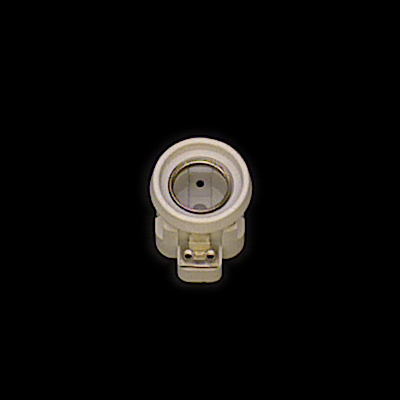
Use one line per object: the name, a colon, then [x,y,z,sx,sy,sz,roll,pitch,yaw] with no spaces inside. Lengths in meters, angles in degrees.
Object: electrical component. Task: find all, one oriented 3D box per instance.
electrical component: [0.000,0.000,0.627,0.058,0.078,0.056,0,-27,0]
